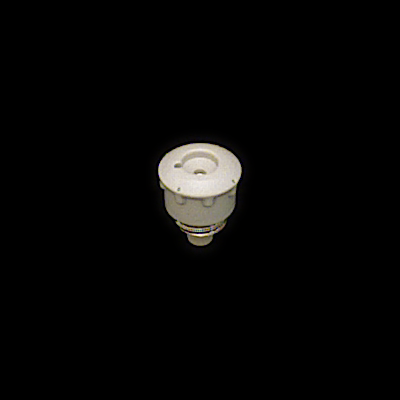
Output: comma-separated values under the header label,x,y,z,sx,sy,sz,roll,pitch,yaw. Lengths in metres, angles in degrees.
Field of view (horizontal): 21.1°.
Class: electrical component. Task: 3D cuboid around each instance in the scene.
label,x,y,z,sx,sy,sz,roll,pitch,yaw
electrical component,0.000,0.000,0.635,0.048,0.062,0.048,0,42,0
